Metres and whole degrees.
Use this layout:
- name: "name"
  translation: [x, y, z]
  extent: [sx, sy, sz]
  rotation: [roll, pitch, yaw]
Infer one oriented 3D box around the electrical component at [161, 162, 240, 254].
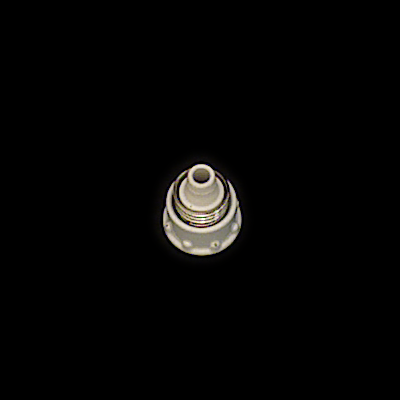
- name: "electrical component"
  translation: [0.000, 0.000, 0.634]
  extent: [0.048, 0.048, 0.062]
  rotation: [0, -28, 0]
